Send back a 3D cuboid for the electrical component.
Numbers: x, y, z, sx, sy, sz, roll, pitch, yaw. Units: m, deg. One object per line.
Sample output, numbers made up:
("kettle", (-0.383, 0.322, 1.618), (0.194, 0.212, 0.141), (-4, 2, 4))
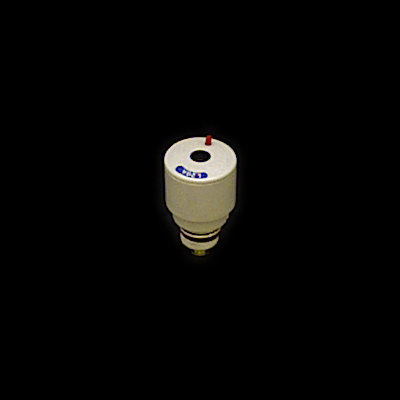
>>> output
("electrical component", (0.000, 0.000, 0.626), (0.040, 0.079, 0.039), (0, 41, 0))
